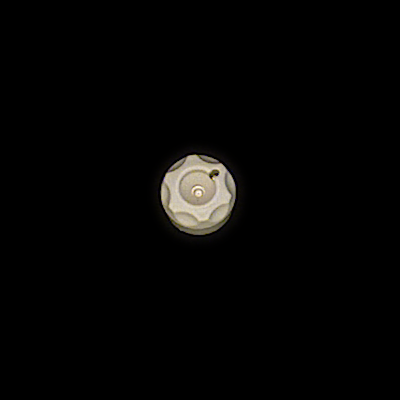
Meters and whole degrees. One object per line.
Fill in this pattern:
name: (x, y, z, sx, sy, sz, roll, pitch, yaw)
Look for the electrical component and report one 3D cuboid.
electrical component: (0.000, 0.000, 0.634, 0.043, 0.043, 0.061, 0, -15, 1)
